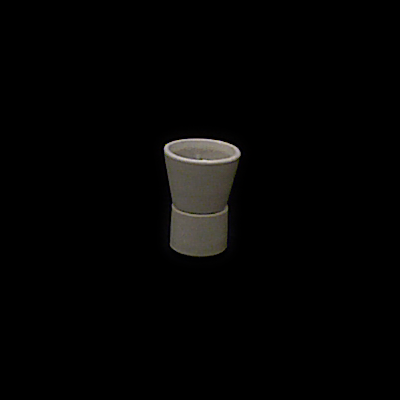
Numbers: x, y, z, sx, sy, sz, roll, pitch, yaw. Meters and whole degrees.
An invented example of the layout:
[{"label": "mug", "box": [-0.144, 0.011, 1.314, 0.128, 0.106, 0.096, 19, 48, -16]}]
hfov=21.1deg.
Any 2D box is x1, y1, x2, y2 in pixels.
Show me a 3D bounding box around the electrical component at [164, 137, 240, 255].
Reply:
[{"label": "electrical component", "box": [0.000, 0.000, 0.639, 0.044, 0.066, 0.044, 2, 21, -1]}]
